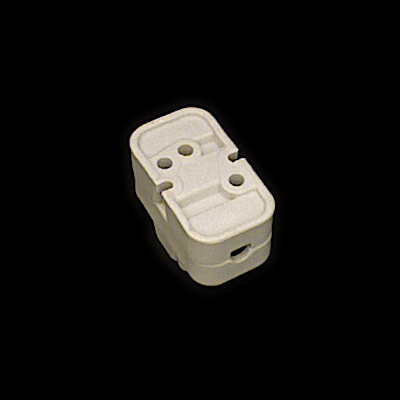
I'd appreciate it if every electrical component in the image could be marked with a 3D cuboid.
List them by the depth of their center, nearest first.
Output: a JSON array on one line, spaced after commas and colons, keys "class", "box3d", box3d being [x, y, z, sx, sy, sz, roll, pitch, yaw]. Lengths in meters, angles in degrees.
[{"class": "electrical component", "box3d": [0.000, 0.000, 0.634, 0.054, 0.094, 0.059, -24, -33, -17]}]
